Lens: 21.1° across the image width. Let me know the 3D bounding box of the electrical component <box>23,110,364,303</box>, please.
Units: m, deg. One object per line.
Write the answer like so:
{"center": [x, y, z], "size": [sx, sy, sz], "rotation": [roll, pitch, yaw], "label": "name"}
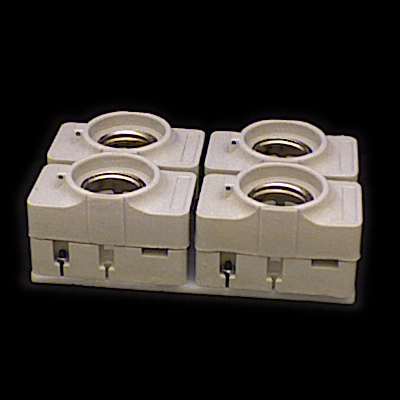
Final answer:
{"center": [0.000, 0.000, 0.633], "size": [0.186, 0.061, 0.104], "rotation": [3, 31, 4], "label": "electrical component"}
